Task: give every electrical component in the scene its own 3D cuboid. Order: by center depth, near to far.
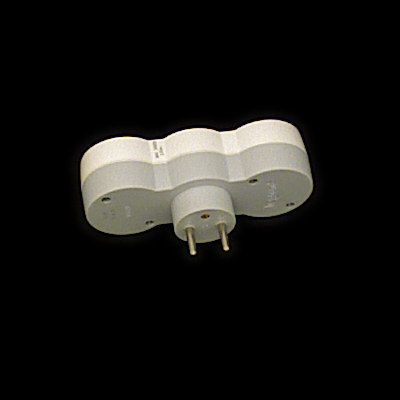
[{"bbox_3d":[0.000,0.000,0.637,0.138,0.073,0.052,-7,-35,-6],"label":"electrical component"}]
